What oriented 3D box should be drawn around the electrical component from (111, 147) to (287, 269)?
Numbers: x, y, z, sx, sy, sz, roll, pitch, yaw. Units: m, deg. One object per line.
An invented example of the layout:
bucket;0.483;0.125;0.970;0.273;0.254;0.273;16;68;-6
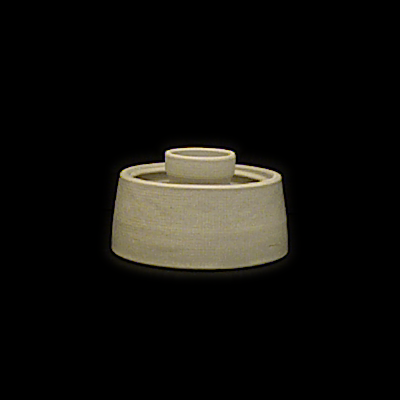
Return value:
electrical component;0.000;0.000;0.651;0.108;0.061;0.107;1;11;0
